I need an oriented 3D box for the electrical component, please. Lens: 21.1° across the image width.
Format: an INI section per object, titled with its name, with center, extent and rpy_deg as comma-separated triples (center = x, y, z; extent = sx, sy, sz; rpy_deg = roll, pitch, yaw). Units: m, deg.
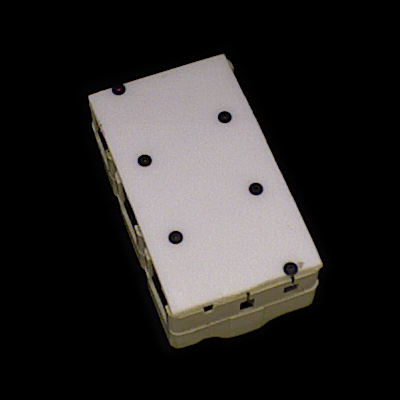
[electrical component]
center = 0.000, 0.000, 0.632
extent = 0.090, 0.149, 0.062
rpy_deg = -18, -26, -9
